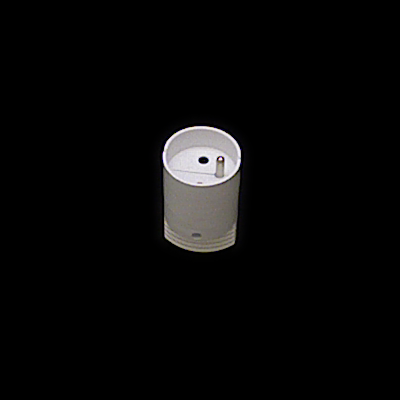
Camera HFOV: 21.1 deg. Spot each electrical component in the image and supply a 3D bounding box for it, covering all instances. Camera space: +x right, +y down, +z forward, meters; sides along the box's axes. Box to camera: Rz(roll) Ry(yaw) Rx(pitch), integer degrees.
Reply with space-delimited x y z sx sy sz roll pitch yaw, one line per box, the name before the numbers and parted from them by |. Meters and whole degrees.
electrical component | 0.000 0.000 0.620 0.043 0.043 0.081 0 -37 -1
